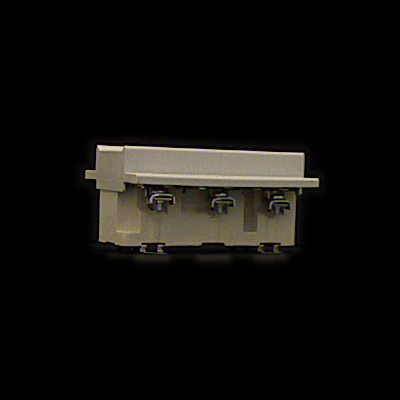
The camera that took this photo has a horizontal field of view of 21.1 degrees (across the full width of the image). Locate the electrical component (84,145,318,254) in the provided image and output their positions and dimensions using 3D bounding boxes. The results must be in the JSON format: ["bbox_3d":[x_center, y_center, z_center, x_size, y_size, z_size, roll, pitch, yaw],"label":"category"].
[{"bbox_3d":[0.000,0.000,0.662,0.122,0.063,0.078,1,2,-27],"label":"electrical component"}]
